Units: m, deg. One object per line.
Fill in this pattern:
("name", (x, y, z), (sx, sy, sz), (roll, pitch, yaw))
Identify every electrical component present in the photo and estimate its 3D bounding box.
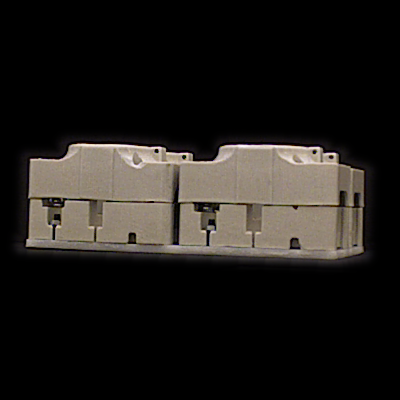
("electrical component", (0.000, 0.000, 0.651), (0.186, 0.060, 0.105), (1, 0, 17))
